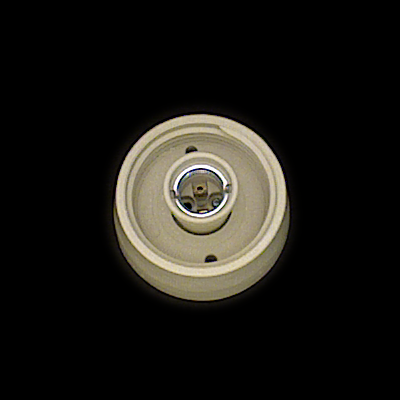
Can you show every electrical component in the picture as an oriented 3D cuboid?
[{"bbox_3d":[0.000,0.000,0.634,0.108,0.108,0.060,0,-16,0],"label":"electrical component"}]
